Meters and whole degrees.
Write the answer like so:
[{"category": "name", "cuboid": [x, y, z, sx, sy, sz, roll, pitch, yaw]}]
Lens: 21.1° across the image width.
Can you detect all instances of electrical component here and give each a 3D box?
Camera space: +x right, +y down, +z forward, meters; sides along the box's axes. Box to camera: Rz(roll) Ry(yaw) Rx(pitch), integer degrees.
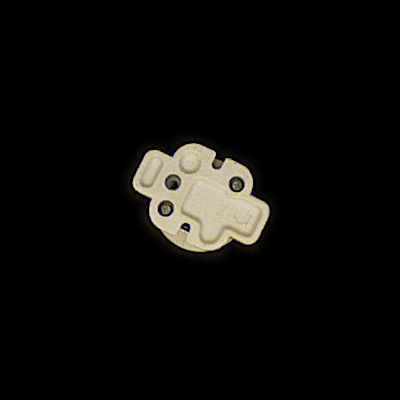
[{"category": "electrical component", "cuboid": [0.000, 0.000, 0.637, 0.078, 0.058, 0.056, 25, -6, 1]}]
